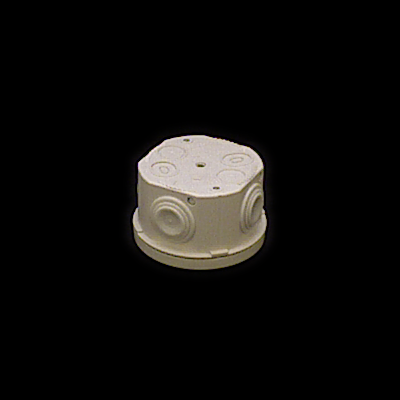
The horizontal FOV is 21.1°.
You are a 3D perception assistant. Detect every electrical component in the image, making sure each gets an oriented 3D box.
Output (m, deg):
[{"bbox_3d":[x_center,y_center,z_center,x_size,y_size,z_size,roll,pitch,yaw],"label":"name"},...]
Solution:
[{"bbox_3d":[0.000,0.000,0.636,0.080,0.051,0.079,1,32,-1],"label":"electrical component"}]
